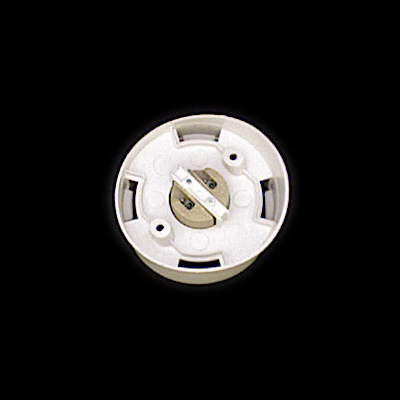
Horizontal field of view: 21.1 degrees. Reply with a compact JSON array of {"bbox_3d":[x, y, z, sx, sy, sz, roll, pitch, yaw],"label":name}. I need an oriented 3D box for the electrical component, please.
[{"bbox_3d":[0.000,0.000,0.623,0.099,0.099,0.064,0,-17,-1],"label":"electrical component"}]
